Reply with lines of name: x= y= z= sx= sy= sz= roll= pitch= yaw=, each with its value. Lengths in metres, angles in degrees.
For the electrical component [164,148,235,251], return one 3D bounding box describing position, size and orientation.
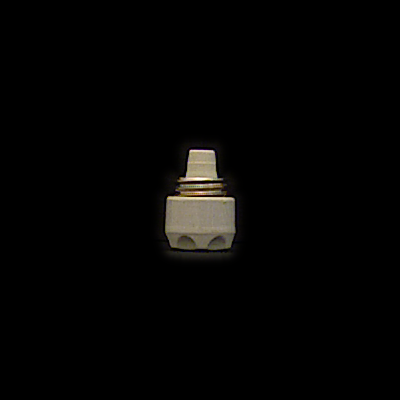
electrical component: x=0.000 y=0.000 z=0.655 sx=0.043 sy=0.062 sz=0.043 roll=1 pitch=3 yaw=0
